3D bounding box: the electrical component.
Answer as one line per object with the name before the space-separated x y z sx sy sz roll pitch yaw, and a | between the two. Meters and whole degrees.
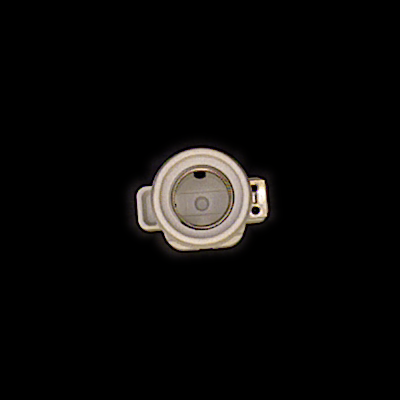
electrical component | 0.000 0.000 0.630 0.078 0.058 0.056 -5 -6 0
